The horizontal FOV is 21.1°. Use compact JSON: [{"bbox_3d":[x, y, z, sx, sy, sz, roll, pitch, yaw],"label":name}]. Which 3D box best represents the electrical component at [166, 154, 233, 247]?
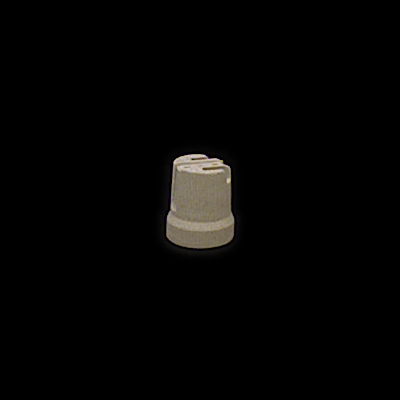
[{"bbox_3d":[0.000,0.000,0.641,0.040,0.046,0.040,1,22,0],"label":"electrical component"}]
